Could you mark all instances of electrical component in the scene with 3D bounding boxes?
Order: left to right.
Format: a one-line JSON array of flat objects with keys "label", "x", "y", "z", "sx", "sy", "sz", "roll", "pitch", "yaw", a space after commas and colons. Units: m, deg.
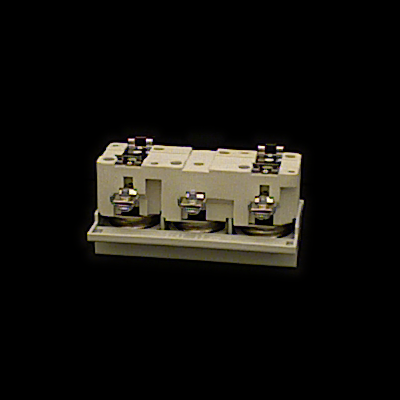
[{"label": "electrical component", "x": 0.000, "y": 0.000, "z": 0.649, "sx": 0.121, "sy": 0.064, "sz": 0.078, "roll": 4, "pitch": 21, "yaw": 6}]
